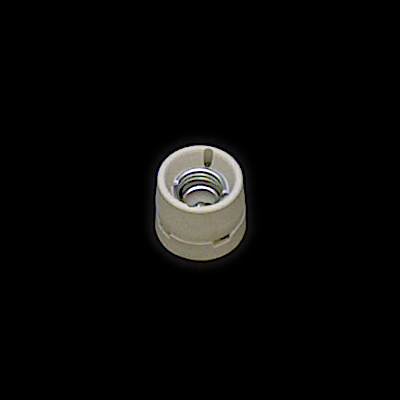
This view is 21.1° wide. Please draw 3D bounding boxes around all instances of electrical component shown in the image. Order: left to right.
[{"bbox_3d":[0.000,0.000,0.633,0.055,0.055,0.047,0,-37,0],"label":"electrical component"}]
